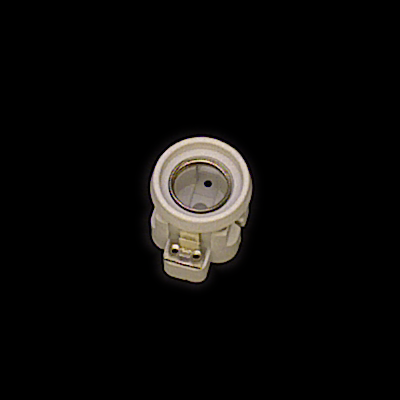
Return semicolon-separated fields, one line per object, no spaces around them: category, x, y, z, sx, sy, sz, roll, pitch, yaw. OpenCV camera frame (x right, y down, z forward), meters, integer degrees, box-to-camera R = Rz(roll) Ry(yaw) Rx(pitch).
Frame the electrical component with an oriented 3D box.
electrical component;0.000;0.000;0.627;0.058;0.079;0.056;14;-26;7
